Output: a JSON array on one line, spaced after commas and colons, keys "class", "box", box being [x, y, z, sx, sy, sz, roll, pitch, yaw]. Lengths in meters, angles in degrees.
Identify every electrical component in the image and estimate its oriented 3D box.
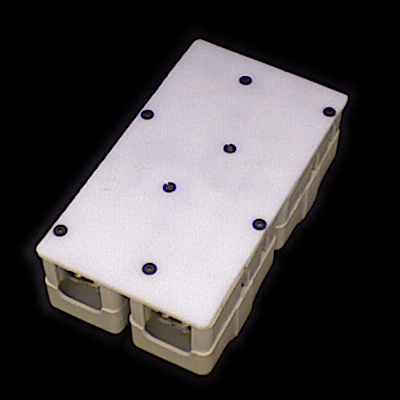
[{"class": "electrical component", "box": [0.000, 0.000, 0.627, 0.105, 0.186, 0.060, 23, -34, 16]}]
